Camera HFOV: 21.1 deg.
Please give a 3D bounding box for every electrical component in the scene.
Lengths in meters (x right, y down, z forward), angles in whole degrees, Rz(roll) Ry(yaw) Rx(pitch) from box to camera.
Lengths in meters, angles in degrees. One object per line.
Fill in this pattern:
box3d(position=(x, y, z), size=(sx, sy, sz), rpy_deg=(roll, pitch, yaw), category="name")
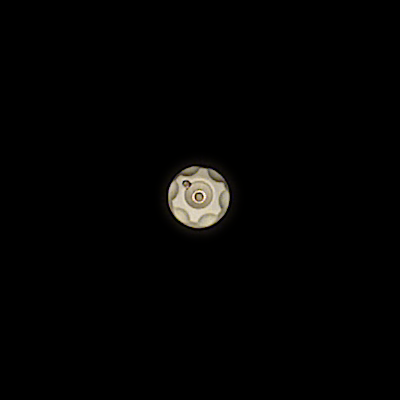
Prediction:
box3d(position=(0.000, 0.000, 0.635), size=(0.035, 0.035, 0.061), rpy_deg=(0, -6, 1), category="electrical component")
